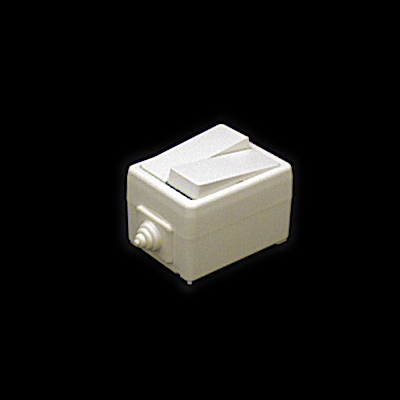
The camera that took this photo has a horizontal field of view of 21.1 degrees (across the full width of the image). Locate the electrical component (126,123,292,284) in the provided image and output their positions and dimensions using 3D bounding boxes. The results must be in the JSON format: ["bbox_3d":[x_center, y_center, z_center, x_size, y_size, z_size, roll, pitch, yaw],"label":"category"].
[{"bbox_3d":[0.000,0.000,0.633,0.096,0.061,0.061,-22,38,-33],"label":"electrical component"}]
